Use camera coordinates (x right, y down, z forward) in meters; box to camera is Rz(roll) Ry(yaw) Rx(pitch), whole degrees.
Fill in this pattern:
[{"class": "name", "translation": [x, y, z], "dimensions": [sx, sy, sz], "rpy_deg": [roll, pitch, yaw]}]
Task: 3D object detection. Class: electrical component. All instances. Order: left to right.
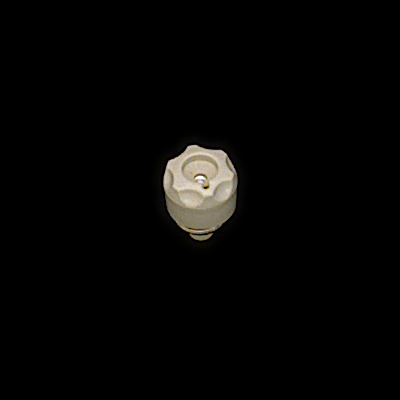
[{"class": "electrical component", "translation": [0.000, 0.000, 0.636], "dimensions": [0.043, 0.043, 0.062], "rpy_deg": [0, -38, 0]}]
